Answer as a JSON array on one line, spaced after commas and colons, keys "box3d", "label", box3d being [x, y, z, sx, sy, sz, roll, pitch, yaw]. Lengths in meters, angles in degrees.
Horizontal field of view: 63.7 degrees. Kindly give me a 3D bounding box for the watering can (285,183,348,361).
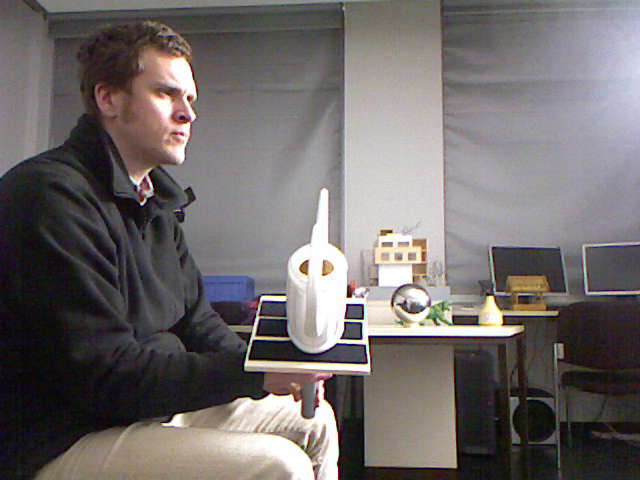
[{"box3d": [-0.002, 0.056, 0.906, 0.104, 0.220, 0.356, 4, 31, 2], "label": "watering can"}]
